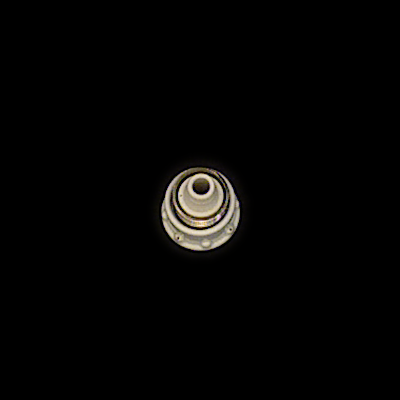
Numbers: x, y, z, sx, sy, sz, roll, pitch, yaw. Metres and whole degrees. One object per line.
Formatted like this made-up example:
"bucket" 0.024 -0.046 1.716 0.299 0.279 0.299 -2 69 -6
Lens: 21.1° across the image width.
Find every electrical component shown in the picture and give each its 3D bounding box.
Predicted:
"electrical component" 0.000 0.000 0.634 0.048 0.048 0.061 0 -16 -1
